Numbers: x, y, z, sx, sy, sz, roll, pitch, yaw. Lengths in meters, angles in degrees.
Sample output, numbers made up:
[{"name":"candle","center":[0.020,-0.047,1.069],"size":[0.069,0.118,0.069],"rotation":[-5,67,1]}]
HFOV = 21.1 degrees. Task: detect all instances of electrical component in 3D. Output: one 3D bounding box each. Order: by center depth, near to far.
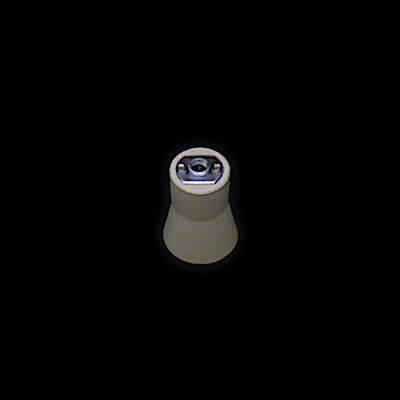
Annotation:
[{"name":"electrical component","center":[0.000,0.000,0.628],"size":[0.044,0.044,0.065],"rotation":[0,-39,0]}]
